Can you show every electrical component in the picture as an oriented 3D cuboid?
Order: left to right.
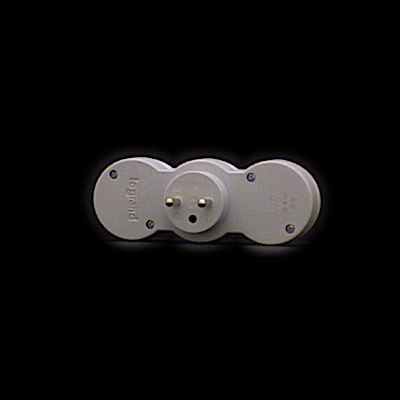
[{"bbox_3d":[0.000,0.000,0.650,0.138,0.052,0.073,2,3,14],"label":"electrical component"}]
